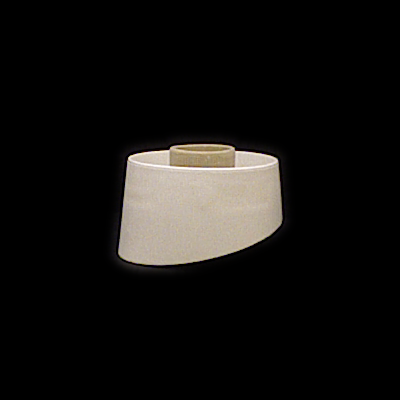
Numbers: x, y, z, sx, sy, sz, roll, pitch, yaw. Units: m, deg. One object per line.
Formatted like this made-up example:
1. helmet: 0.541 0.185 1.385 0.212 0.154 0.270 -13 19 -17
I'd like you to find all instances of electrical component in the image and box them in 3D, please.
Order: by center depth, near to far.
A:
1. electrical component: 0.000 0.000 0.645 0.099 0.064 0.098 1 11 0
